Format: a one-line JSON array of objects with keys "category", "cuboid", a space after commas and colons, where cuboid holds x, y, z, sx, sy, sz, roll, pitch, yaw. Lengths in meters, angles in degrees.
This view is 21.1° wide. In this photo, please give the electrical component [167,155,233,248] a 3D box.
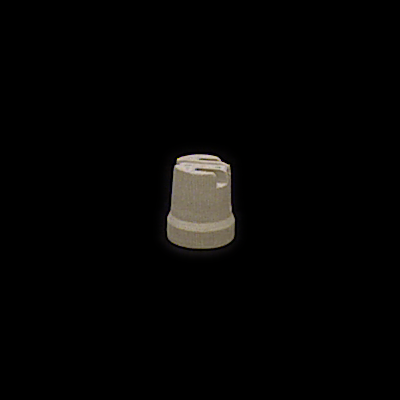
[{"category": "electrical component", "cuboid": [0.000, 0.000, 0.641, 0.040, 0.046, 0.040, 1, 22, 0]}]
